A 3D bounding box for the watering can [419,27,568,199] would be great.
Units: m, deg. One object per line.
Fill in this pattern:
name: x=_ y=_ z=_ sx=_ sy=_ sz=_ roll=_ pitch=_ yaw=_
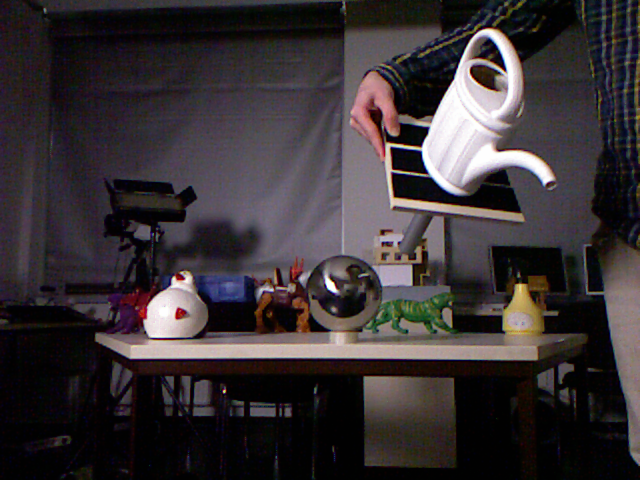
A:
watering can: x=0.226 y=-0.143 z=0.720 sx=0.104 sy=0.357 sz=0.219 roll=6 pitch=-39 yaw=-10
